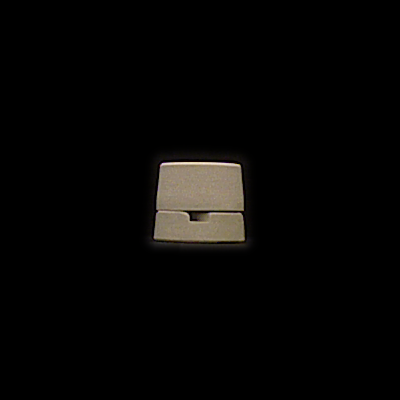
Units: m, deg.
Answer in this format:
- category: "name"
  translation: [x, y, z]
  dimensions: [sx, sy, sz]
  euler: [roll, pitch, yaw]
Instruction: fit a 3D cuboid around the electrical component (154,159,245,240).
- category: "electrical component"
  translation: [0.000, 0.000, 0.651]
  dimensions: [0.055, 0.047, 0.055]
  euler: [1, 0, 0]
